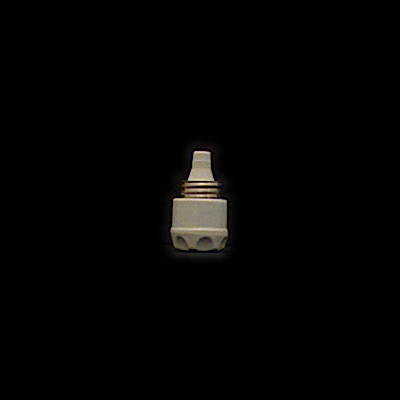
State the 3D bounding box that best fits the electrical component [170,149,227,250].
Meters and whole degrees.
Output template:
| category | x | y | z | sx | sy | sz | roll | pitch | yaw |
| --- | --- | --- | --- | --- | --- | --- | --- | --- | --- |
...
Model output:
| category | x | y | z | sx | sy | sz | roll | pitch | yaw |
| --- | --- | --- | --- | --- | --- | --- | --- | --- | --- |
| electrical component | 0.000 | 0.000 | 0.662 | 0.035 | 0.061 | 0.035 | 2 | 1 | 0 |
